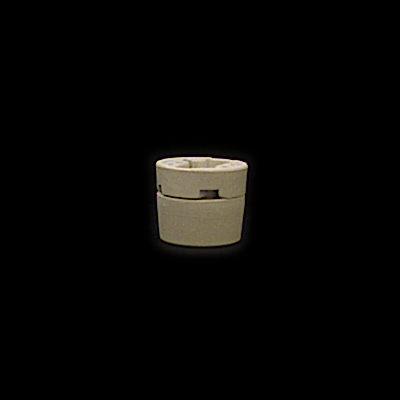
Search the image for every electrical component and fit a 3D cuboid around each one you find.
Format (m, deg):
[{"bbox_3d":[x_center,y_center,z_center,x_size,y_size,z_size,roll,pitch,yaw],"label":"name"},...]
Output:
[{"bbox_3d":[0.000,0.000,0.647,0.055,0.047,0.055,1,11,0],"label":"electrical component"}]
